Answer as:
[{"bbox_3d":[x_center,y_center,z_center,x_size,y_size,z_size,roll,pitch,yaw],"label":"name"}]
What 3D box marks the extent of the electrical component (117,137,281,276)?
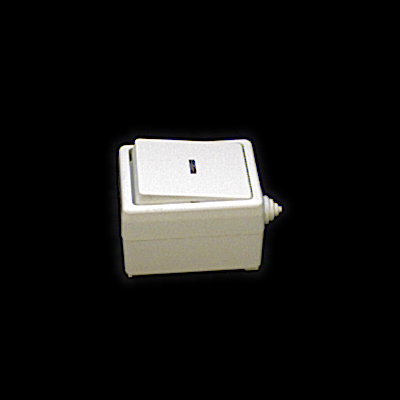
[{"bbox_3d":[0.000,0.000,0.630,0.096,0.061,0.061,-3,42,-4],"label":"electrical component"}]
